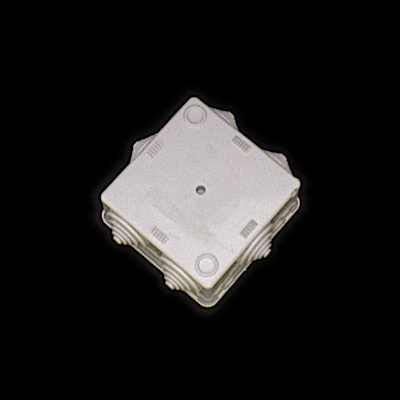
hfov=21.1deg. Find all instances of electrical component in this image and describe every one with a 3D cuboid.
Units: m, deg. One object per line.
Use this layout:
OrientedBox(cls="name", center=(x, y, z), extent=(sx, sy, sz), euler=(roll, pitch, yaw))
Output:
OrientedBox(cls="electrical component", center=(0.000, 0.000, 0.631), extent=(0.100, 0.100, 0.048), euler=(40, -12, 11))
